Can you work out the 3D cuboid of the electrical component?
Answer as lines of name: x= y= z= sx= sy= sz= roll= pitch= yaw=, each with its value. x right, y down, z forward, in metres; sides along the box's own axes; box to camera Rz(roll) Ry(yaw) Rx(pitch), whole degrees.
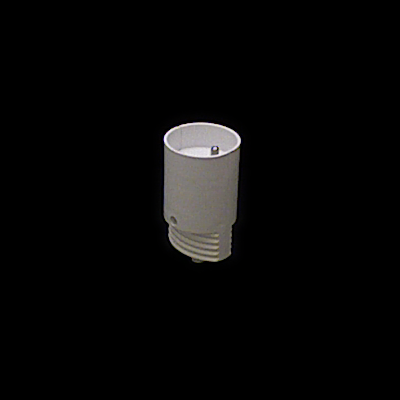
electrical component: x=0.000 y=0.000 z=0.628 sx=0.043 sy=0.082 sz=0.042 roll=1 pitch=32 yaw=0
